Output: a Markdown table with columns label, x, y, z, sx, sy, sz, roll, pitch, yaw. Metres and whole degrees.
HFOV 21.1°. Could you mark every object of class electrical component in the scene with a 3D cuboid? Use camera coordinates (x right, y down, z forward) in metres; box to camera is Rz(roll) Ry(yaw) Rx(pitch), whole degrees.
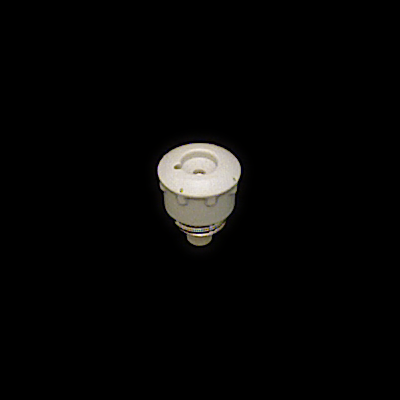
| label | x | y | z | sx | sy | sz | roll | pitch | yaw |
| --- | --- | --- | --- | --- | --- | --- | --- | --- | --- |
| electrical component | 0.000 | 0.000 | 0.635 | 0.048 | 0.062 | 0.048 | 0 | 42 | 0 |
